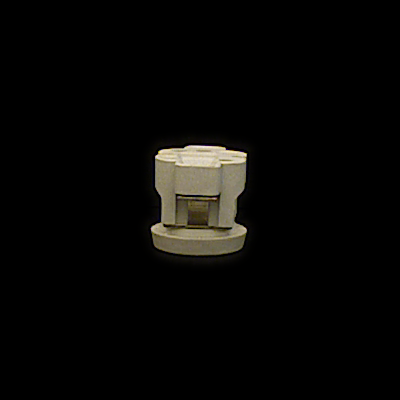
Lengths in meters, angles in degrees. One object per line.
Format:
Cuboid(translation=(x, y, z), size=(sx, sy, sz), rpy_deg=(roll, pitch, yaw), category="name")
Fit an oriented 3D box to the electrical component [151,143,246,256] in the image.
Cuboid(translation=(0.000, 0.000, 0.650), size=(0.058, 0.057, 0.078), rpy_deg=(2, 13, 2), category="electrical component")
